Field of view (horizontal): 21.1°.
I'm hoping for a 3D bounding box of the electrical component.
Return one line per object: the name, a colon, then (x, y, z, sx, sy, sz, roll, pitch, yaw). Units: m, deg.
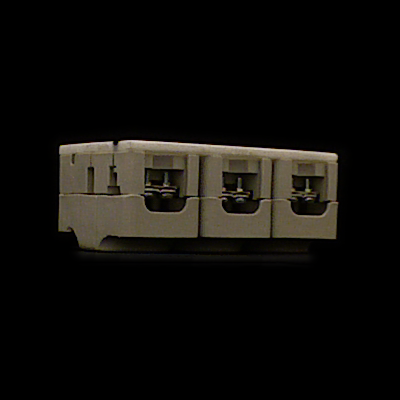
electrical component: (0.000, 0.000, 0.660, 0.150, 0.062, 0.089, 2, 0, -33)
